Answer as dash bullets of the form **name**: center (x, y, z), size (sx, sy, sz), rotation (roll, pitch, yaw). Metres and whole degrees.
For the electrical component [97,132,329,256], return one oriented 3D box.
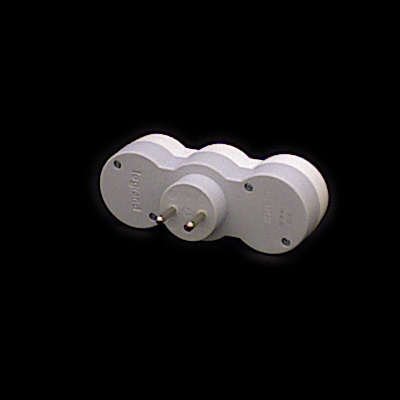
- **electrical component**: center (0.000, 0.000, 0.640), size (0.138, 0.053, 0.073), rotation (11, 25, 22)
